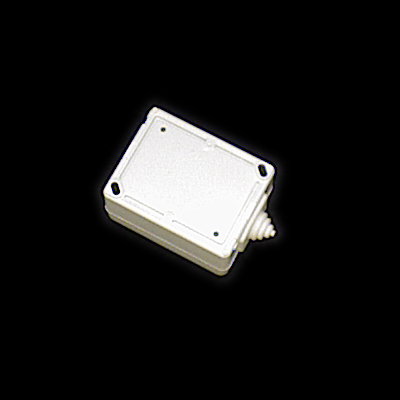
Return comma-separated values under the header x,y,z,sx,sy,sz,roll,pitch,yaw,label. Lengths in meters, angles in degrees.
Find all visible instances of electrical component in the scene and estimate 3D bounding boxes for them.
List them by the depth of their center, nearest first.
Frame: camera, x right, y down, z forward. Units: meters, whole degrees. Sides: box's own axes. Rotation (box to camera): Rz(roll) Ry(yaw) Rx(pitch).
x,y,z,sx,sy,sz,roll,pitch,yaw,label
0.000,0.000,0.625,0.096,0.062,0.060,27,-16,8,electrical component
